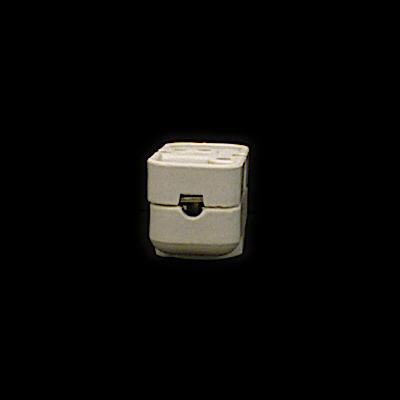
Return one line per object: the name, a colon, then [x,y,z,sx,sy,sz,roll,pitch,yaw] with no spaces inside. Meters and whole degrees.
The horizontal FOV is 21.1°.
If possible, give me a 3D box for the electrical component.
electrical component: [0.000,0.000,0.650,0.053,0.060,0.094,2,11,5]
